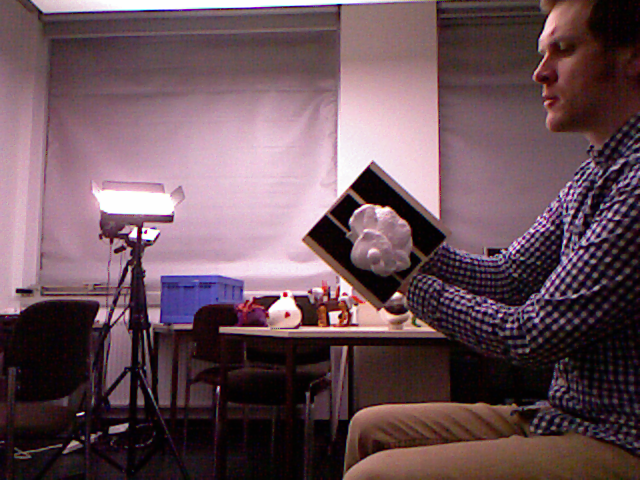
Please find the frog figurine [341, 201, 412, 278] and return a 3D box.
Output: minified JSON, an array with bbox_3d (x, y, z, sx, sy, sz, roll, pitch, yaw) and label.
[{"bbox_3d":[0.102,-0.003,0.897,0.123,0.138,0.160,-31,2,3],"label":"frog figurine"}]
